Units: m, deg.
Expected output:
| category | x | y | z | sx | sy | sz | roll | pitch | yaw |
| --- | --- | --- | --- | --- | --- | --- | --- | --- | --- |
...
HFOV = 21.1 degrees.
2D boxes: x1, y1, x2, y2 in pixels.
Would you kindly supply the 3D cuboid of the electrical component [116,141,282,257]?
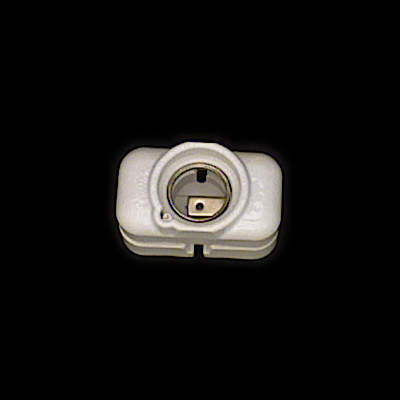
| category | x | y | z | sx | sy | sz | roll | pitch | yaw |
| --- | --- | --- | --- | --- | --- | --- | --- | --- | --- |
| electrical component | 0.000 | 0.000 | 0.634 | 0.095 | 0.054 | 0.059 | 2 | -16 | 1 |
